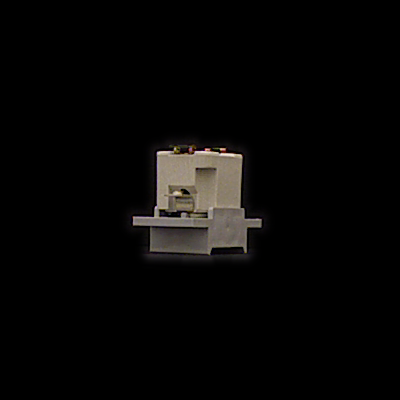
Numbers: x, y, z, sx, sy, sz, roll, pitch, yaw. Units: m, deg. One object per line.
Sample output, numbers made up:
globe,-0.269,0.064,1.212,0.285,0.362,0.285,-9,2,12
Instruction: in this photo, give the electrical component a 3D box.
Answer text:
electrical component,0.000,0.000,0.649,0.042,0.064,0.081,2,0,31
